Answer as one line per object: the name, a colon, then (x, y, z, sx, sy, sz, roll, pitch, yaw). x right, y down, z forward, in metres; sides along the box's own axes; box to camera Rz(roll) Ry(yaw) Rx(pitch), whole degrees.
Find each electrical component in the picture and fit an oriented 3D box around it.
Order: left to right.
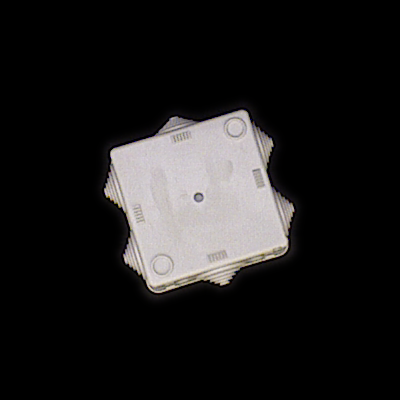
electrical component: (0.000, 0.000, 0.632, 0.100, 0.100, 0.048, -17, -6, -2)
